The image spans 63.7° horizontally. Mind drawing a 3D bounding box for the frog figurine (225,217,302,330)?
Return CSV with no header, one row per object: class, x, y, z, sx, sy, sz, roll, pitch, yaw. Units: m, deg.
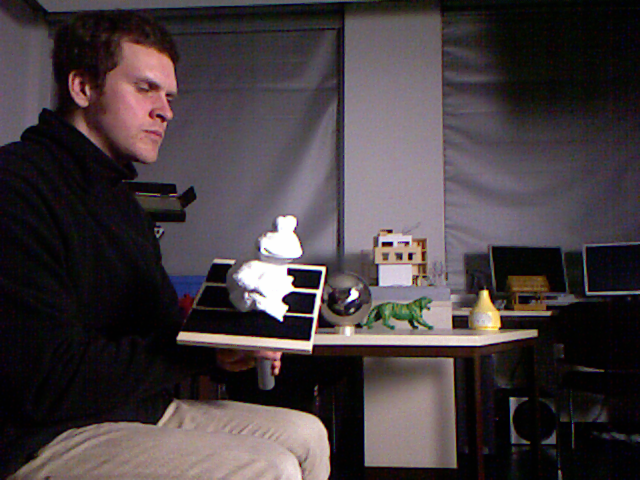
frog figurine,-0.089,0.037,0.798,0.123,0.156,0.140,18,39,23
